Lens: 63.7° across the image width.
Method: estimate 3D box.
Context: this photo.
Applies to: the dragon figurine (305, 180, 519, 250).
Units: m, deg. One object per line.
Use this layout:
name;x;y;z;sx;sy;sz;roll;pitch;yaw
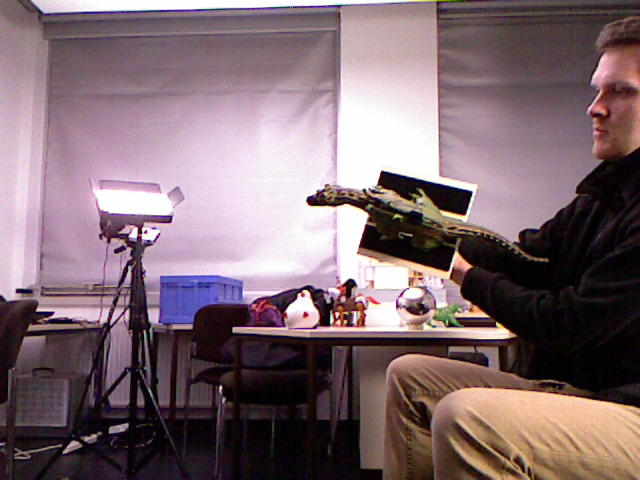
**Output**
dragon figurine;0.176;-0.040;0.968;0.413;0.122;0.244;14;6;15
